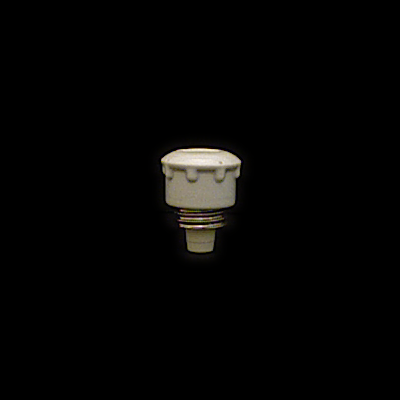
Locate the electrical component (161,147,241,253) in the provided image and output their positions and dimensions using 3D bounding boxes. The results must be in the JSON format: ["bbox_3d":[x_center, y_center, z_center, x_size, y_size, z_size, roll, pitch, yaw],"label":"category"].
[{"bbox_3d":[0.000,0.000,0.649,0.048,0.062,0.048,1,11,0],"label":"electrical component"}]
